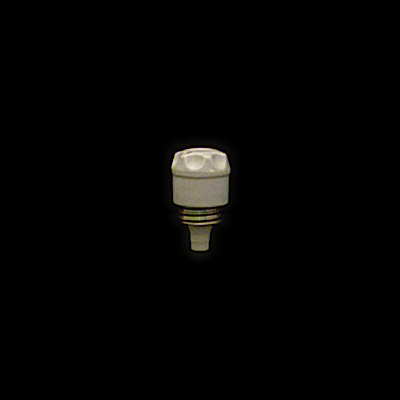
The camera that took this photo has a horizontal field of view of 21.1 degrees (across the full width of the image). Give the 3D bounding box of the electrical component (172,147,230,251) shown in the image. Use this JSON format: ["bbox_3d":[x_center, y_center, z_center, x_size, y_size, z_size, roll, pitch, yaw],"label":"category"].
[{"bbox_3d":[0.000,0.000,0.650,0.035,0.062,0.035,1,12,0],"label":"electrical component"}]
